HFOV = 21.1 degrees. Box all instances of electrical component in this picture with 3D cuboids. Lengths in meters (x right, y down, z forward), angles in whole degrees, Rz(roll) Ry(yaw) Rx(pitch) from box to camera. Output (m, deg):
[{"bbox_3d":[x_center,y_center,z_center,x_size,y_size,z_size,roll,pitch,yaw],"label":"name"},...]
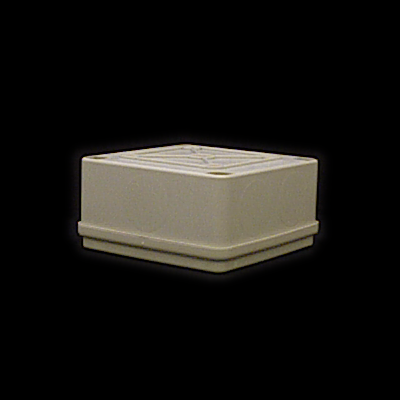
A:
[{"bbox_3d":[0.000,0.000,0.646,0.108,0.056,0.108,9,13,35],"label":"electrical component"}]
